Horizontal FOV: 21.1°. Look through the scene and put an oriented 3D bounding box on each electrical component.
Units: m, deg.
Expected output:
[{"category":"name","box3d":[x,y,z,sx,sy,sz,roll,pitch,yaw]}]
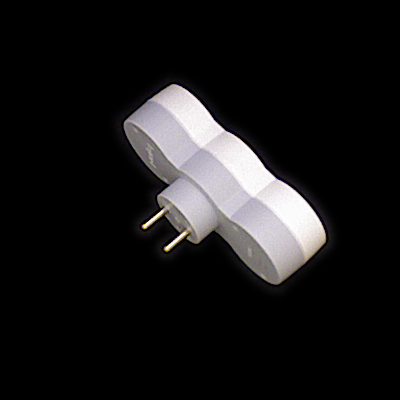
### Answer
[{"category":"electrical component","box3d":[0.000,0.000,0.630,0.074,0.138,0.052,-40,-19,-16]}]
